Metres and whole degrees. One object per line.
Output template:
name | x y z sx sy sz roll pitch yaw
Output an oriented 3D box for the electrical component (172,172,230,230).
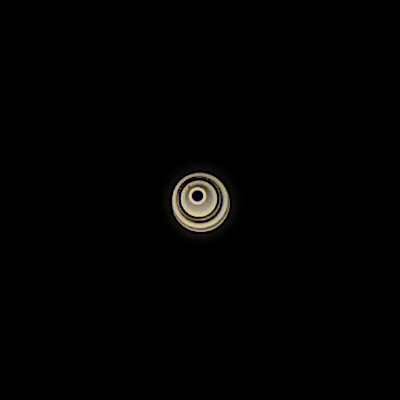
electrical component | 0.000 0.000 0.637 0.035 0.035 0.061 0 -6 2
